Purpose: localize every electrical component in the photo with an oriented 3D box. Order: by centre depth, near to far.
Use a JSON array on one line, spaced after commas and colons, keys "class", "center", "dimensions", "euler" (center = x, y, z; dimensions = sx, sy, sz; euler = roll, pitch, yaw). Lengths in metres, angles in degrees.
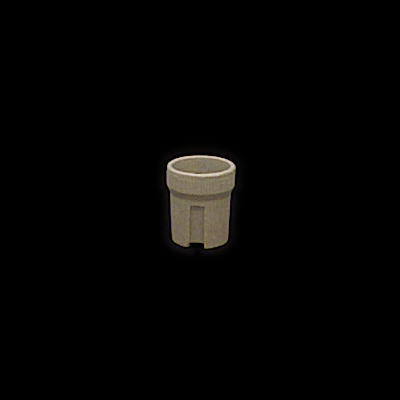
[{"class": "electrical component", "center": [0.000, 0.000, 0.642], "dimensions": [0.040, 0.047, 0.039], "euler": [1, 21, 0]}]
